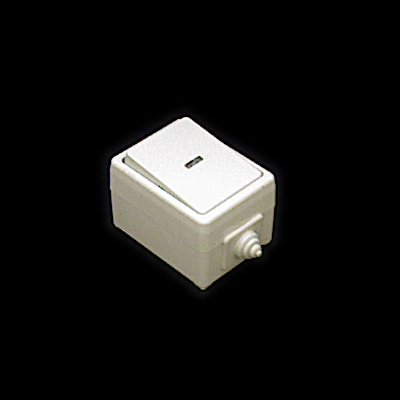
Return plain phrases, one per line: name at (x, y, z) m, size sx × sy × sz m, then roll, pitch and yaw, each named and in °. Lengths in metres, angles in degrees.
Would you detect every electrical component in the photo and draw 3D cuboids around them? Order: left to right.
electrical component at (0.000, 0.000, 0.629) m, size 0.096 × 0.061 × 0.061 m, roll 34°, pitch 52°, yaw 31°
